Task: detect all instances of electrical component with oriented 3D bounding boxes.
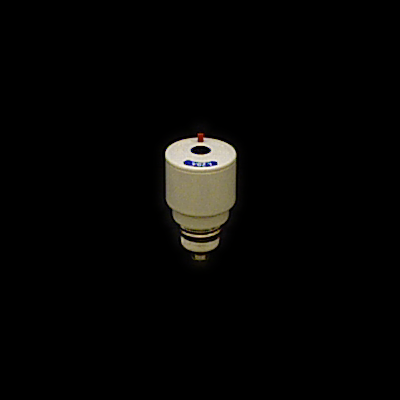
[{"bbox_3d":[0.000,0.000,0.631,0.040,0.079,0.039,1,31,0],"label":"electrical component"}]
